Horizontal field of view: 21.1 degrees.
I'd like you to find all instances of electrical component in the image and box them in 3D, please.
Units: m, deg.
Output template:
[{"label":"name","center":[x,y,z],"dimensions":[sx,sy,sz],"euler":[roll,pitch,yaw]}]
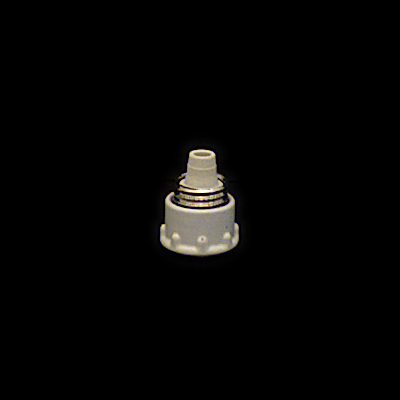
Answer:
[{"label":"electrical component","center":[0.000,0.000,0.646],"dimensions":[0.048,0.063,0.047],"euler":[2,23,0]}]
